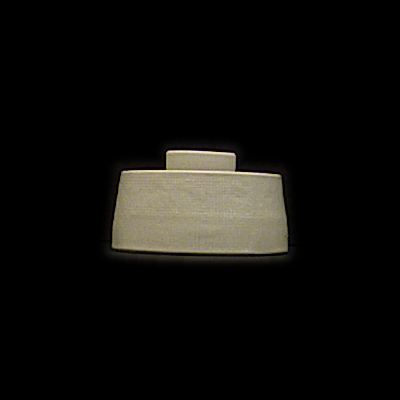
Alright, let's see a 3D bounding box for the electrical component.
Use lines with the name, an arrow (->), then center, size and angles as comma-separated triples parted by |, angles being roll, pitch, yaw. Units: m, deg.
electrical component -> 0.000, 0.000, 0.656 | 0.108, 0.060, 0.108 | 1, 1, 1
